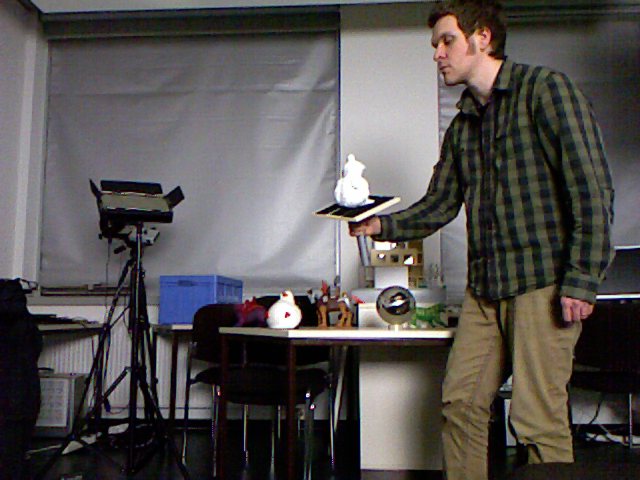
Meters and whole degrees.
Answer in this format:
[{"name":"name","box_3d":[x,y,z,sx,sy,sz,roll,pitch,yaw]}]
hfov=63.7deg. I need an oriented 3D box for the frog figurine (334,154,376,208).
[{"name":"frog figurine","box_3d":[0.097,-0.185,1.616,0.123,0.157,0.139,-19,20,-17]}]
